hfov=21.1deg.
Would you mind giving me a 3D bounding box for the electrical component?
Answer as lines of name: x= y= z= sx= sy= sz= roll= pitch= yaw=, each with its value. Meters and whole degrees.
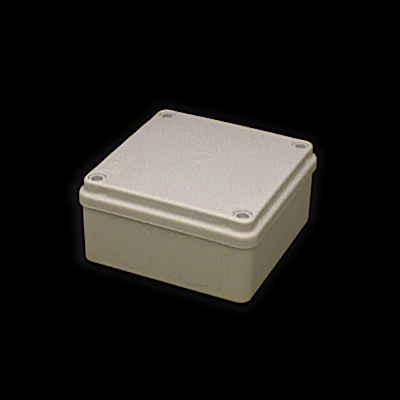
electrical component: x=0.000 y=0.000 z=0.636 sx=0.108 sy=0.057 sz=0.108 roll=15 pitch=34 yaw=20
